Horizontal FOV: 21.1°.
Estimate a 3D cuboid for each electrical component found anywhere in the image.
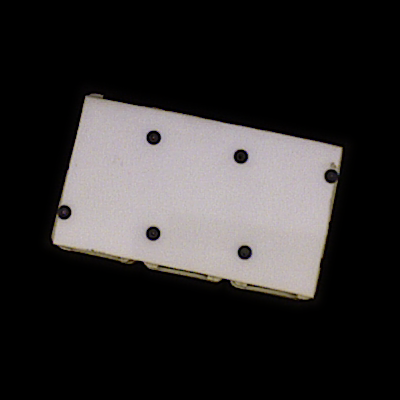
[{"bbox_3d":[0.000,0.000,0.631,0.150,0.089,0.061,12,-6,2],"label":"electrical component"}]
